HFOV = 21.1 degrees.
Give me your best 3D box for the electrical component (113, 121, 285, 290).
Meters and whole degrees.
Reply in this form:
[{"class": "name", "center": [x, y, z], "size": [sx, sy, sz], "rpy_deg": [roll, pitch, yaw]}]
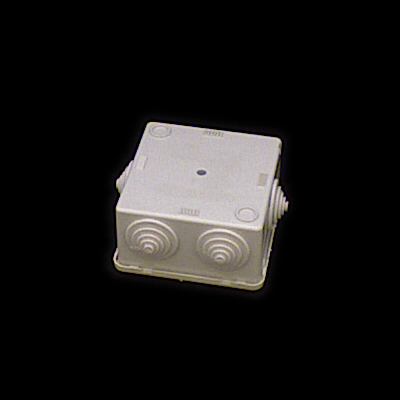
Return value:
[{"class": "electrical component", "center": [0.000, 0.000, 0.634], "size": [0.099, 0.049, 0.099], "rpy_deg": [8, 43, 8]}]
